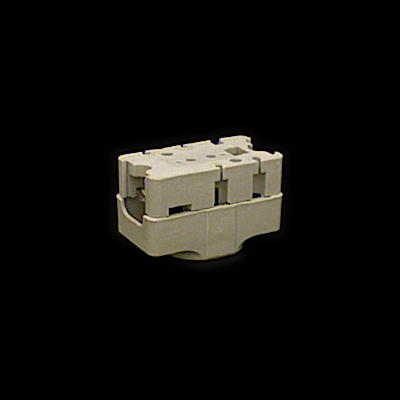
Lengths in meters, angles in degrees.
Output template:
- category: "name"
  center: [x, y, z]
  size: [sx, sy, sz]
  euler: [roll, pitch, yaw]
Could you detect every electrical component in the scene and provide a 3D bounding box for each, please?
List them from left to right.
- category: "electrical component"
  center: [0.000, 0.000, 0.647]
  size: [0.090, 0.056, 0.049]
  euler: [-11, 24, -28]
